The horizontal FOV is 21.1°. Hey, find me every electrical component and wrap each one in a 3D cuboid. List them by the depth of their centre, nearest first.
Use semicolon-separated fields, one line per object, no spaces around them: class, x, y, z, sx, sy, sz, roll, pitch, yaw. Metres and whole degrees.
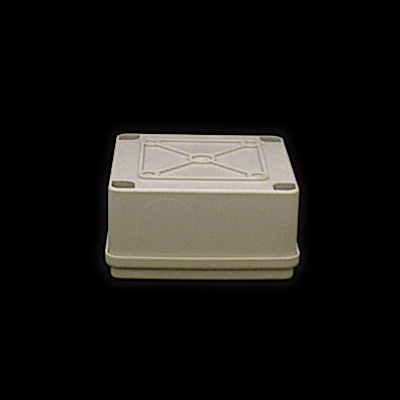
electrical component;0.000;0.000;0.639;0.109;0.057;0.107;1;21;-2
